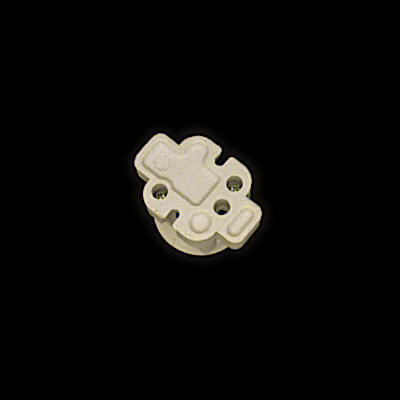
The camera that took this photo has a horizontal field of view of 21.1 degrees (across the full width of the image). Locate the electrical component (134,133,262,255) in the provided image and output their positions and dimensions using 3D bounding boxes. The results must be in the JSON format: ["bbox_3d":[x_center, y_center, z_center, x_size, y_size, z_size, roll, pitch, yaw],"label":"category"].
[{"bbox_3d":[0.000,0.000,0.635,0.078,0.058,0.056,37,-12,11],"label":"electrical component"}]
